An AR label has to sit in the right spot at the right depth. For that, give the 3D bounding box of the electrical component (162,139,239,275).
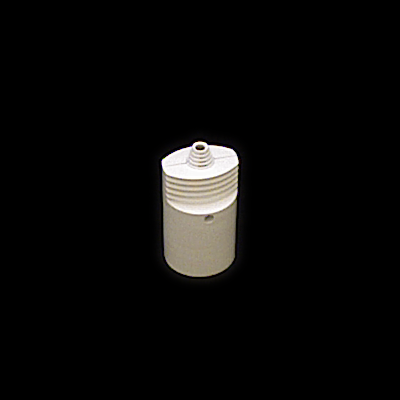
[{"bbox_3d":[0.000,0.000,0.623,0.043,0.082,0.042,0,42,0],"label":"electrical component"}]
